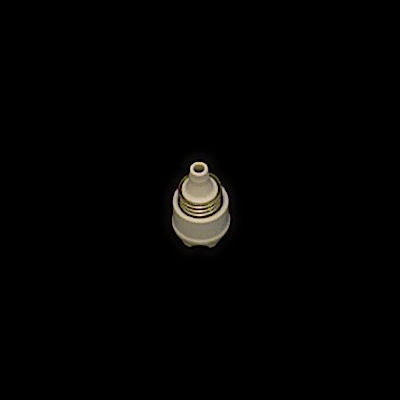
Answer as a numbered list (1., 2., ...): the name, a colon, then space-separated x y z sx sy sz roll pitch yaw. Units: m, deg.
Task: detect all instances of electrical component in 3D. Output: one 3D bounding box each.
1. electrical component: 0.000 0.000 0.638 0.035 0.035 0.062 0 -38 2
